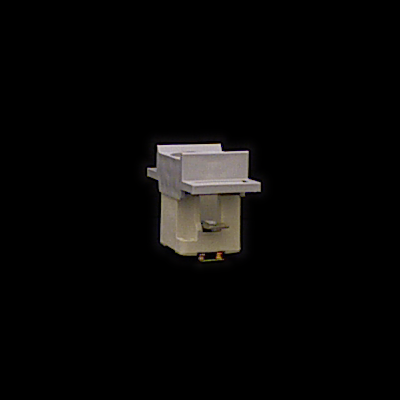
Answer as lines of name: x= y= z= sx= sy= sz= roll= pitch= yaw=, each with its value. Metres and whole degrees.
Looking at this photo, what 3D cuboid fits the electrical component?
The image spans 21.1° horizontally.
electrical component: x=0.000 y=0.000 z=0.641 sx=0.042 sy=0.064 sz=0.080 roll=-2 pitch=10 yaw=-21
